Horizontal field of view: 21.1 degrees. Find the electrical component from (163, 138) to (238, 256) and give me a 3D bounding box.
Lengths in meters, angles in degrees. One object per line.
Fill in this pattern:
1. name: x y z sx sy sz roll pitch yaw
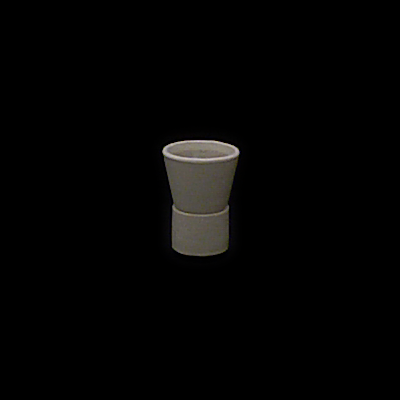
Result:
1. electrical component: 0.000 0.000 0.640 0.044 0.066 0.044 1 20 0
